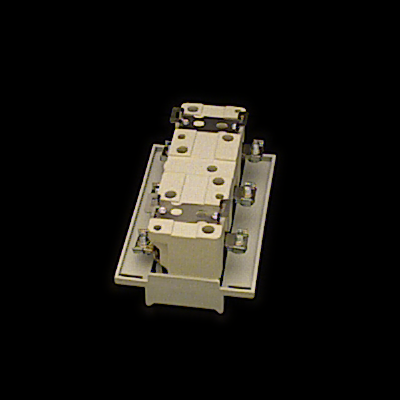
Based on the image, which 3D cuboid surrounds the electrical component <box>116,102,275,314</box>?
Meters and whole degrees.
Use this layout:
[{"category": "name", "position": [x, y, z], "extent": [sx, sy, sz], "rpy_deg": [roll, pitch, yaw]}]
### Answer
[{"category": "electrical component", "position": [0.000, 0.000, 0.637], "extent": [0.078, 0.063, 0.120], "rpy_deg": [5, 42, 6]}]
